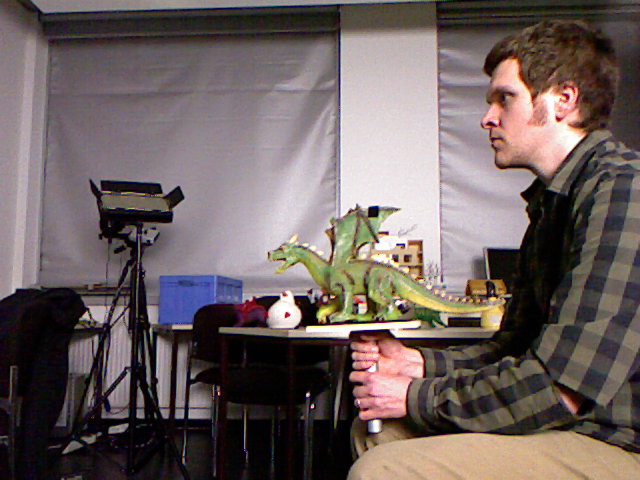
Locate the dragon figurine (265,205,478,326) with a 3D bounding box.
[{"bbox_3d":[0.094,0.046,1.043,0.410,0.245,0.121,-6,-8,7],"label":"dragon figurine"}]
